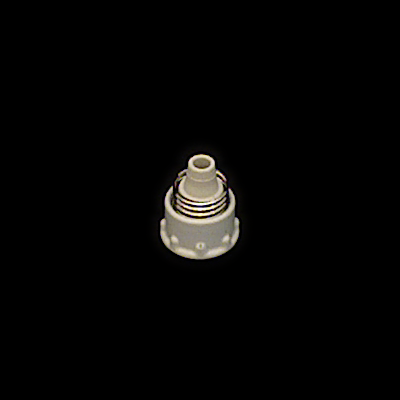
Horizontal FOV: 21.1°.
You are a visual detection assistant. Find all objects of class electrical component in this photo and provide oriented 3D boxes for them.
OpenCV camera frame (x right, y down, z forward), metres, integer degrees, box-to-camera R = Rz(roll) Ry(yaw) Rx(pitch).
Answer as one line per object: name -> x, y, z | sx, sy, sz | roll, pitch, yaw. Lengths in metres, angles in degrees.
electrical component -> 0.000, 0.000, 0.638 | 0.048, 0.062, 0.047 | 1, 43, -1
